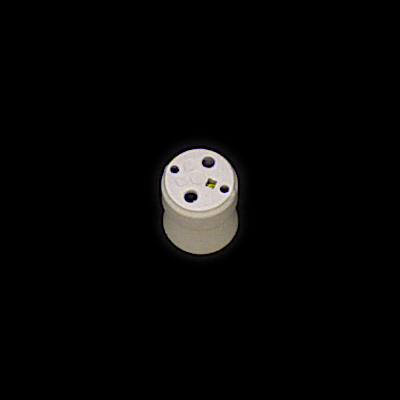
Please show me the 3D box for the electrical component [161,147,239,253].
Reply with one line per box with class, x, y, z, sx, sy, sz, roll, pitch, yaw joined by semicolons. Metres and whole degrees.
electrical component;0.000;0.000;0.628;0.045;0.045;0.055;0;-27;0
